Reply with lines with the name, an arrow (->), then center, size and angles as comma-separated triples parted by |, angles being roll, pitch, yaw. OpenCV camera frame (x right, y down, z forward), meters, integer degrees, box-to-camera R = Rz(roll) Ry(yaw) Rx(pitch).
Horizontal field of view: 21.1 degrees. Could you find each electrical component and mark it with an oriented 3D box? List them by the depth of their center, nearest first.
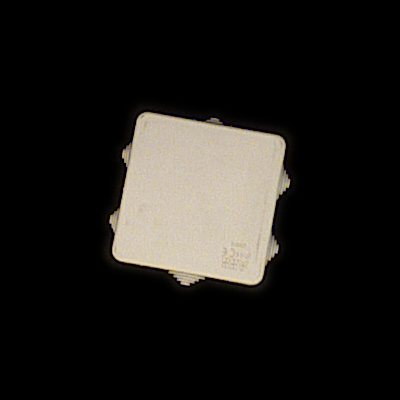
electrical component -> 0.000, 0.000, 0.642 | 0.100, 0.100, 0.048 | 10, -6, 1
